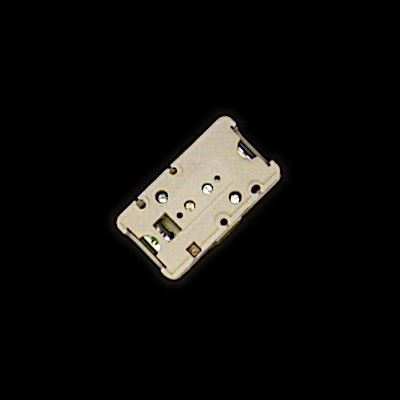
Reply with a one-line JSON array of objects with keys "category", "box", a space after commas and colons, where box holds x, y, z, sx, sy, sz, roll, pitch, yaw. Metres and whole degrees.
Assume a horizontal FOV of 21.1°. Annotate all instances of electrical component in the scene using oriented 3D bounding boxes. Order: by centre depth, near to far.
[{"category": "electrical component", "box": [0.000, 0.000, 0.637, 0.090, 0.050, 0.055, -44, -4, -4]}]
